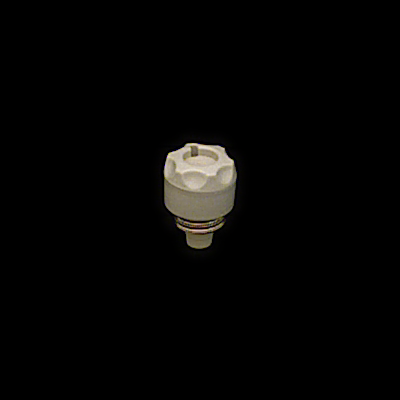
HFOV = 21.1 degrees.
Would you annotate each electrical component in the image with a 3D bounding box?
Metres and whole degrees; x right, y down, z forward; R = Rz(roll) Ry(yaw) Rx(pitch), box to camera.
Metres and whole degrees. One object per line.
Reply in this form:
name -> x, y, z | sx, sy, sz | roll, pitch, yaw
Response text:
electrical component -> 0.000, 0.000, 0.641 | 0.043, 0.063, 0.043 | 1, 33, 0
